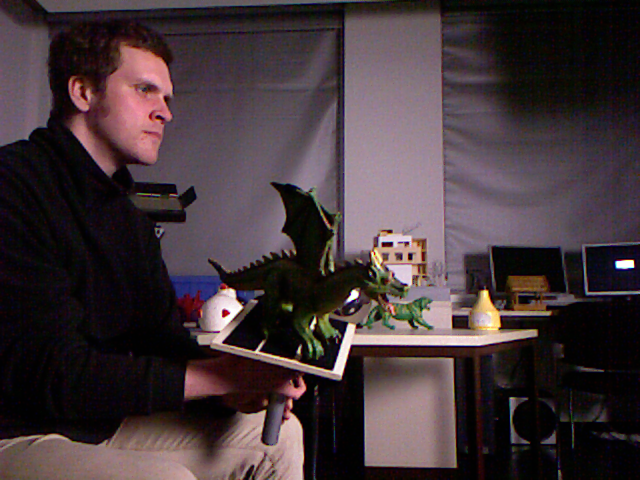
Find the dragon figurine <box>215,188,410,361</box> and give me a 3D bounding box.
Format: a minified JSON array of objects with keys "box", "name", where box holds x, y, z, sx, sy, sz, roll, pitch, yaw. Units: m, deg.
[{"box":[-0.042,0.033,0.823,0.414,0.240,0.123,23,22,37],"name":"dragon figurine"}]
